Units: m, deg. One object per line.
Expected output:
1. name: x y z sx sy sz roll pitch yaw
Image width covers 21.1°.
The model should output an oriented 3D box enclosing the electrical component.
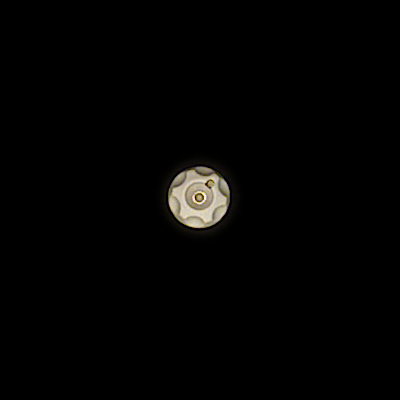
1. electrical component: 0.000 0.000 0.635 0.035 0.035 0.061 0 -5 0
